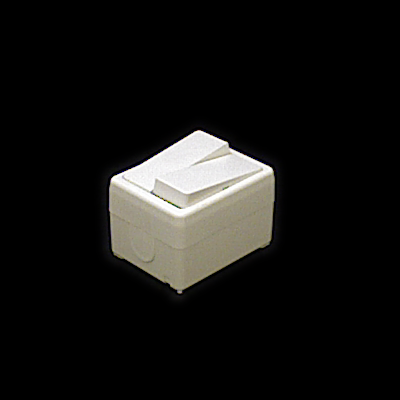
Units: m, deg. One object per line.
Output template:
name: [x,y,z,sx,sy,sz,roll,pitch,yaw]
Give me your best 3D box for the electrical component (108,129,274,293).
electrical component: [0.000,0.000,0.636,0.096,0.061,0.061,-27,41,-37]
